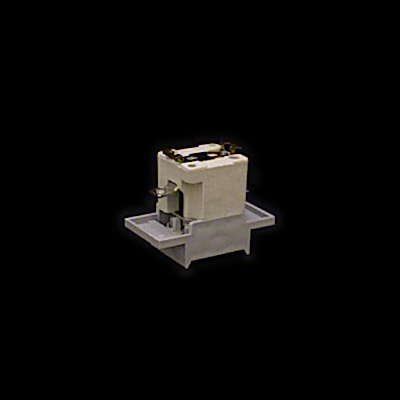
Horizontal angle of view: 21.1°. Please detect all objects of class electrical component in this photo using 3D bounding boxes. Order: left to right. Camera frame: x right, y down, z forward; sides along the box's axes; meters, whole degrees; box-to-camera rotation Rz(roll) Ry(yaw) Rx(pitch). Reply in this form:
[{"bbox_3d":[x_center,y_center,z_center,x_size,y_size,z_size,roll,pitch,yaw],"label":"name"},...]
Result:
[{"bbox_3d":[0.000,0.000,0.639,0.081,0.064,0.041,-12,25,-31],"label":"electrical component"}]
